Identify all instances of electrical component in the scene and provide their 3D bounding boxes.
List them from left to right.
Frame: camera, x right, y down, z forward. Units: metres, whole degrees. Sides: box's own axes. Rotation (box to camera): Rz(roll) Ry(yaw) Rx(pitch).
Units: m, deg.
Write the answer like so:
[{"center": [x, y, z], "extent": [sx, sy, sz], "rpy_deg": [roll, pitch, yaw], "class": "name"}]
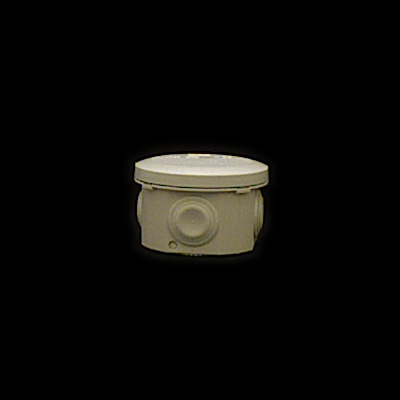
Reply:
[{"center": [0.000, 0.000, 0.646], "extent": [0.080, 0.051, 0.079], "rpy_deg": [1, 11, 0], "class": "electrical component"}]
